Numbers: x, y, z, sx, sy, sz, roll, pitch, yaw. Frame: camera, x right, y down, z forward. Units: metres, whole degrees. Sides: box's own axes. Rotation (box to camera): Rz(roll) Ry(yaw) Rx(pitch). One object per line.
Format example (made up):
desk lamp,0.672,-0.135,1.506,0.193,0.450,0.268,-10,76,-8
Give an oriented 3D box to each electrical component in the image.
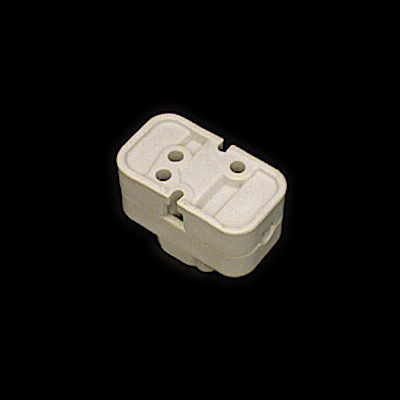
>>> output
electrical component,0.000,0.000,0.634,0.094,0.054,0.059,31,-31,20
